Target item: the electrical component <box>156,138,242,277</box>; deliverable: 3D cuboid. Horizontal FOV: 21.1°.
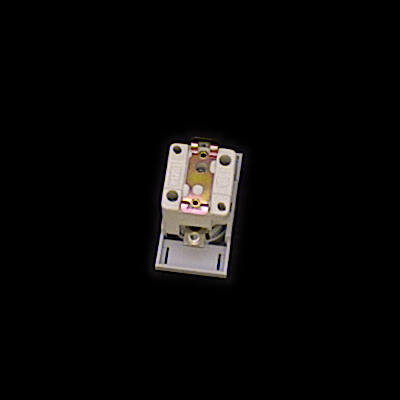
[{"bbox_3d":[0.000,0.000,0.625,0.042,0.081,0.063,6,-27,3],"label":"electrical component"}]
